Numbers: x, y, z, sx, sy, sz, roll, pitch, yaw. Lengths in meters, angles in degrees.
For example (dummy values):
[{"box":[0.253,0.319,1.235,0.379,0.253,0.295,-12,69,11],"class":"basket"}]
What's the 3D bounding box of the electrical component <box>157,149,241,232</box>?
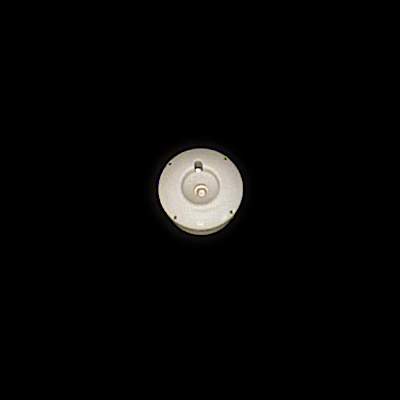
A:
[{"box":[0.000,0.000,0.633,0.048,0.048,0.061,0,-16,1],"class":"electrical component"}]
